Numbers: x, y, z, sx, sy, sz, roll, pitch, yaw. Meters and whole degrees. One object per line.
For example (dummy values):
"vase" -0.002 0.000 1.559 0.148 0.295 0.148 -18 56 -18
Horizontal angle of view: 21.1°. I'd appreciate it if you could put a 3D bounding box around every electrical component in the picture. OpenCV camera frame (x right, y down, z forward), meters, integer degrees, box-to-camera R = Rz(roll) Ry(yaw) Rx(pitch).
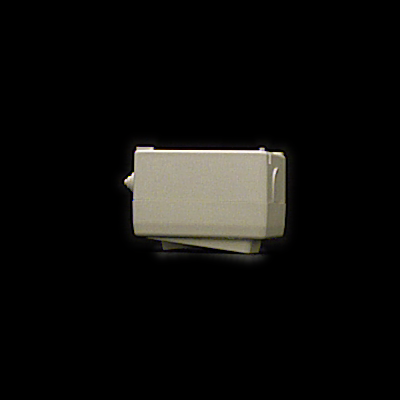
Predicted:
"electrical component" 0.000 0.000 0.650 0.096 0.061 0.062 2 1 15
